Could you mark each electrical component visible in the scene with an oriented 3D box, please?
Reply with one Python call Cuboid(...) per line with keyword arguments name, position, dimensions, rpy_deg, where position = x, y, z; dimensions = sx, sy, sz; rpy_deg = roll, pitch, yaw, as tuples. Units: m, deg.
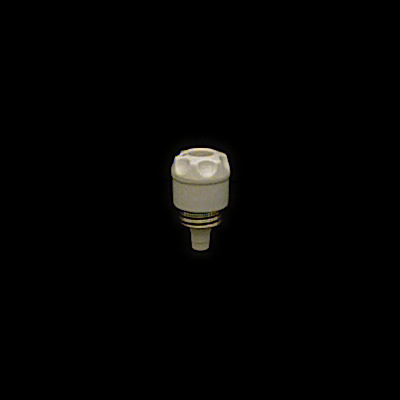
Cuboid(name="electrical component", position=(0.000, 0.000, 0.646), dimensions=(0.035, 0.062, 0.034), rpy_deg=(1, 22, 0))
